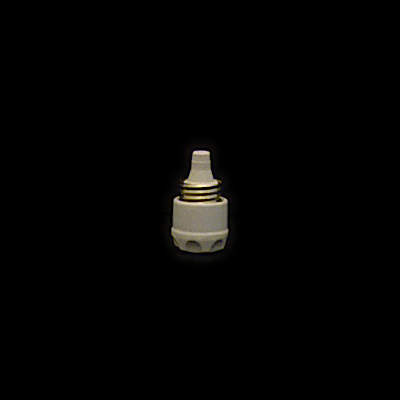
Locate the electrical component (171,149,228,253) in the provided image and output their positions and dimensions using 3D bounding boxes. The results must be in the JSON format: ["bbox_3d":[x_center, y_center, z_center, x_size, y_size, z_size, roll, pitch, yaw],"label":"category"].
[{"bbox_3d":[0.000,0.000,0.658,0.035,0.062,0.035,1,14,0],"label":"electrical component"}]
